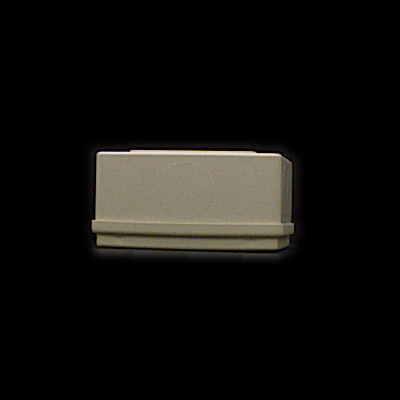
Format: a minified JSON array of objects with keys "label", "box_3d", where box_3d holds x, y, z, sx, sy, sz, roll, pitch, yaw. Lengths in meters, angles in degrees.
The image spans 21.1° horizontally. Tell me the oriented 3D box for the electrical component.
[{"label":"electrical component","box_3d":[0.000,0.000,0.647,0.108,0.056,0.109,1,0,8]}]
